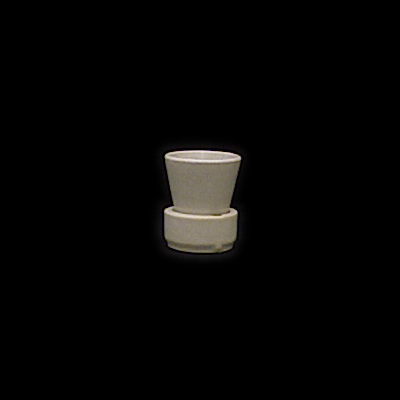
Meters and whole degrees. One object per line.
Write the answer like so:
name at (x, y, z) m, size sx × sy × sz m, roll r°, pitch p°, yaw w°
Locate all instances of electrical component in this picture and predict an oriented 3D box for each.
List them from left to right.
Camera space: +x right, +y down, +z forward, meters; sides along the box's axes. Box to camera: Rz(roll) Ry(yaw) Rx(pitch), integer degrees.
electrical component at (0.000, 0.000, 0.647) m, size 0.045 × 0.055 × 0.044 m, roll 2°, pitch 11°, yaw 0°
